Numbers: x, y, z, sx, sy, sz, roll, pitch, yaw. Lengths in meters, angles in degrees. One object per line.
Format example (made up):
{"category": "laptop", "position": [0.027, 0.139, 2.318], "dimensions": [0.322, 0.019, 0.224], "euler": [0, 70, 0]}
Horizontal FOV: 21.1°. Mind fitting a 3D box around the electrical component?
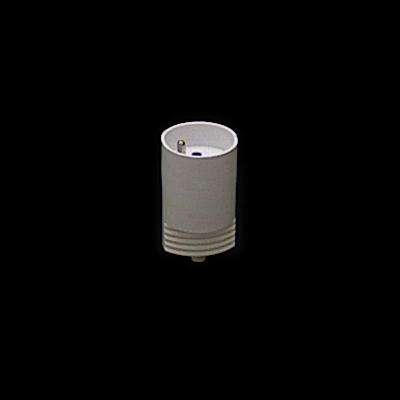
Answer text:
{"category": "electrical component", "position": [0.000, 0.000, 0.626], "dimensions": [0.043, 0.082, 0.042], "euler": [0, 31, 0]}
